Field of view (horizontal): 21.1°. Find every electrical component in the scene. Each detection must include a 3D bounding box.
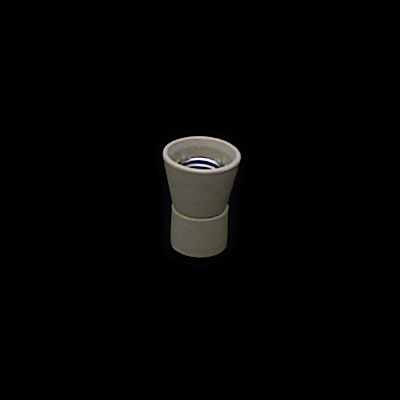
[{"bbox_3d":[0.000,0.000,0.635,0.044,0.066,0.044,1,30,-1],"label":"electrical component"}]
